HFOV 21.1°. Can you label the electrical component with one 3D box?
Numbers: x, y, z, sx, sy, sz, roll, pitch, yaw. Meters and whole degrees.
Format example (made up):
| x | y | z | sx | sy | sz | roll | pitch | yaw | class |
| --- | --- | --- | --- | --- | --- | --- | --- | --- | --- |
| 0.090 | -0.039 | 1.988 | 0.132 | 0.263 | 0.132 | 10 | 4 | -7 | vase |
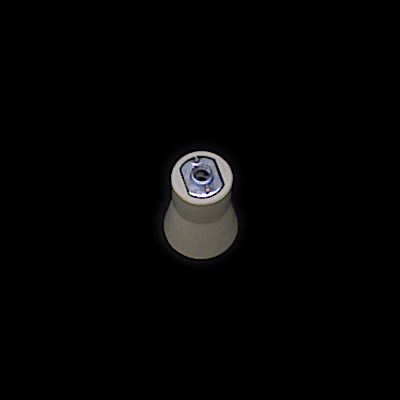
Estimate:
| x | y | z | sx | sy | sz | roll | pitch | yaw | class |
| --- | --- | --- | --- | --- | --- | --- | --- | --- | --- |
| 0.000 | 0.000 | 0.625 | 0.044 | 0.044 | 0.065 | 0 | -28 | -1 | electrical component |
